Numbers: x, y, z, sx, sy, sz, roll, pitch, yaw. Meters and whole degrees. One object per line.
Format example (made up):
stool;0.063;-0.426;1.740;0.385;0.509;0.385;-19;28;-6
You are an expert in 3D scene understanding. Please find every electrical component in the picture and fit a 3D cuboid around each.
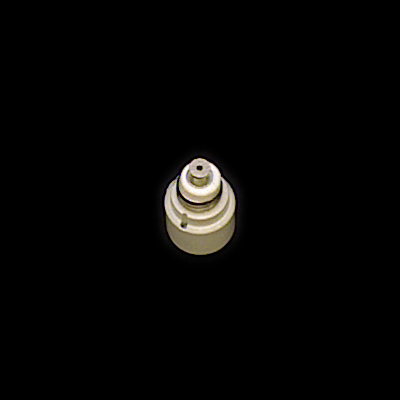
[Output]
electrical component;0.000;0.000;0.619;0.040;0.040;0.078;0;-26;0
